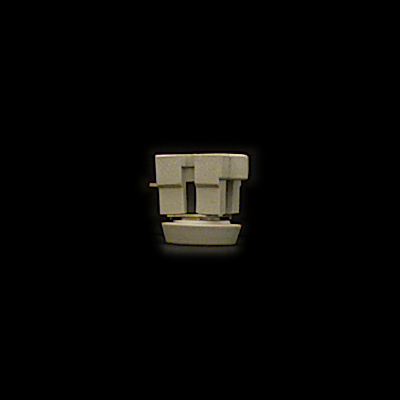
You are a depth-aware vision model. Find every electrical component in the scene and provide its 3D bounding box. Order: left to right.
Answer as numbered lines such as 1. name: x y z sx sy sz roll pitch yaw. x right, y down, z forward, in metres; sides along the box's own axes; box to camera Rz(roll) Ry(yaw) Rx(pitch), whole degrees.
1. electrical component: 0.000 0.000 0.657 0.066 0.055 0.048 1 3 23
